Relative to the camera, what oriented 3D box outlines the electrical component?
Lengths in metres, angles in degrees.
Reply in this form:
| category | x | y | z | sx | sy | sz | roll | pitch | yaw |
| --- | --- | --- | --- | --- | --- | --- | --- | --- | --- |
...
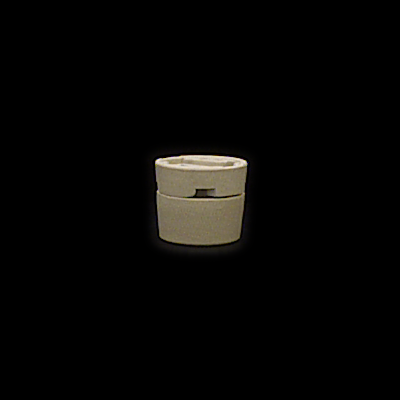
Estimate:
| category | x | y | z | sx | sy | sz | roll | pitch | yaw |
| --- | --- | --- | --- | --- | --- | --- | --- | --- | --- |
| electrical component | 0.000 | 0.000 | 0.646 | 0.055 | 0.047 | 0.055 | 2 | 11 | 0 |
